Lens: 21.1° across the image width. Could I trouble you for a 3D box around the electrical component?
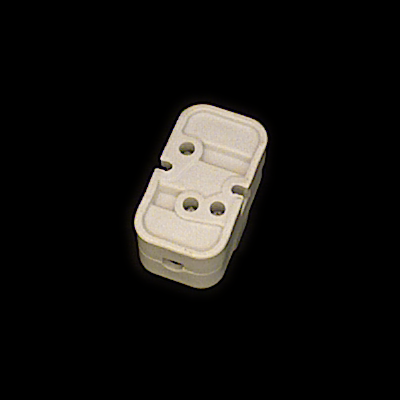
[{"bbox_3d":[0.000,0.000,0.635,0.053,0.095,0.059,18,-26,9],"label":"electrical component"}]
